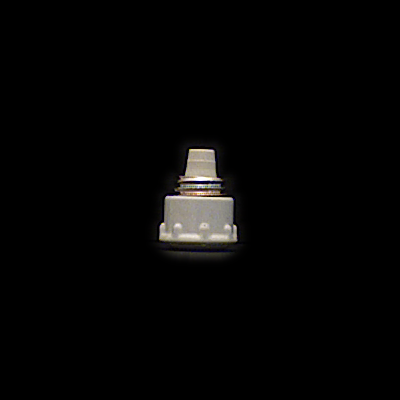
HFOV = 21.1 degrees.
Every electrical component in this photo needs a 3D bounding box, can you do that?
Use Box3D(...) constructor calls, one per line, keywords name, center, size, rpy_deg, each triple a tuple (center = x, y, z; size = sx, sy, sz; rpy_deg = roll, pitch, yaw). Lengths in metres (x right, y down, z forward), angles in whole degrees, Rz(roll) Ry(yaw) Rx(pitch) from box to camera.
Box3D(name="electrical component", center=(0.000, 0.000, 0.657), size=(0.048, 0.062, 0.048), rpy_deg=(2, 2, 0))
